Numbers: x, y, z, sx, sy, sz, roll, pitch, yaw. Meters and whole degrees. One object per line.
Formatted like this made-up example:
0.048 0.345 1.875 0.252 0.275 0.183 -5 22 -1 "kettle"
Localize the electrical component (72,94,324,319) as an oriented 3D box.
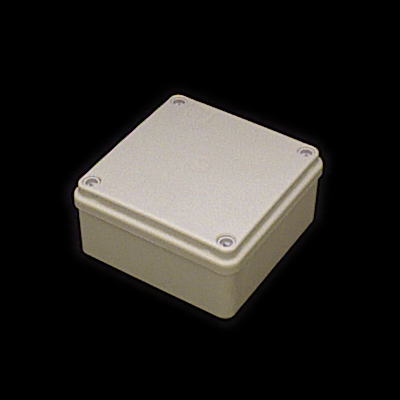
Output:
0.000 0.000 0.631 0.108 0.056 0.108 23 47 23 "electrical component"
